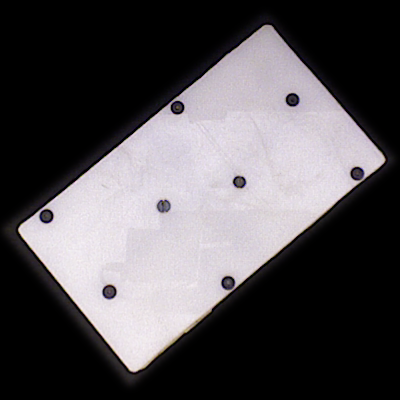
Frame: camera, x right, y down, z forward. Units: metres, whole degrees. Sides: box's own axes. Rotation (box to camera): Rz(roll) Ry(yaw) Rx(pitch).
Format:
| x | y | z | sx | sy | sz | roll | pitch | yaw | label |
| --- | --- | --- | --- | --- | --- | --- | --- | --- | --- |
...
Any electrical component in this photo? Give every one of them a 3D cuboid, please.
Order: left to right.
| x | y | z | sx | sy | sz | roll | pitch | yaw | label |
| --- | --- | --- | --- | --- | --- | --- | --- | --- | --- |
| 0.000 | 0.000 | 0.625 | 0.186 | 0.105 | 0.060 | -40 | -5 | -4 | electrical component |
